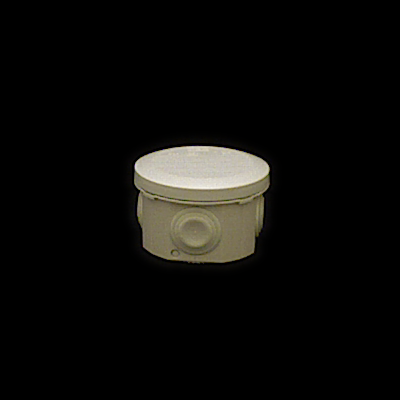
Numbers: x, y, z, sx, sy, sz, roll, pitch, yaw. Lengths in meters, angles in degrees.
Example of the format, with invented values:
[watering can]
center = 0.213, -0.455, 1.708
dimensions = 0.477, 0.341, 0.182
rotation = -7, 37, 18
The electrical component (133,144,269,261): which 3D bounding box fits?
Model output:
[electrical component]
center = 0.000, 0.000, 0.641
dimensions = 0.080, 0.051, 0.079
rotation = 1, 21, 0
